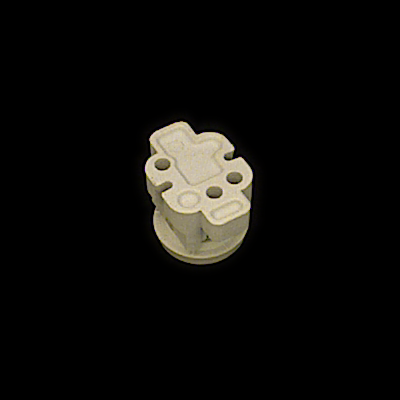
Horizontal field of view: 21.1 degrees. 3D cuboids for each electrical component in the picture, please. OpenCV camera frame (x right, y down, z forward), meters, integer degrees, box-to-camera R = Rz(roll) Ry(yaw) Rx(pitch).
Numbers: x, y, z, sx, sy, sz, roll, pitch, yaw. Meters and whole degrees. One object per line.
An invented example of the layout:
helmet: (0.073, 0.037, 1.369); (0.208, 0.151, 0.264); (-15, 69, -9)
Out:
electrical component: (0.000, 0.000, 0.637); (0.058, 0.078, 0.057); (-27, -34, -18)
